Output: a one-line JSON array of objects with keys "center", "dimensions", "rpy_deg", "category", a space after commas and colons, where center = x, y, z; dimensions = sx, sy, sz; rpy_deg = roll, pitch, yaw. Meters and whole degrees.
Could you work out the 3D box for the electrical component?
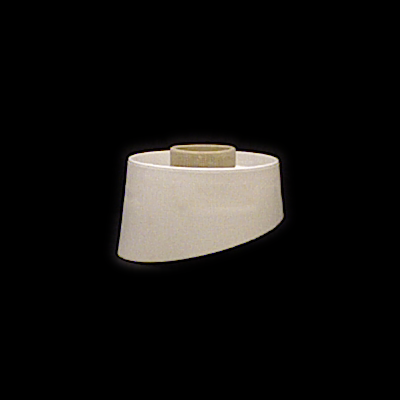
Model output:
[{"center": [0.000, 0.000, 0.644], "dimensions": [0.099, 0.064, 0.098], "rpy_deg": [1, 10, 0], "category": "electrical component"}]
